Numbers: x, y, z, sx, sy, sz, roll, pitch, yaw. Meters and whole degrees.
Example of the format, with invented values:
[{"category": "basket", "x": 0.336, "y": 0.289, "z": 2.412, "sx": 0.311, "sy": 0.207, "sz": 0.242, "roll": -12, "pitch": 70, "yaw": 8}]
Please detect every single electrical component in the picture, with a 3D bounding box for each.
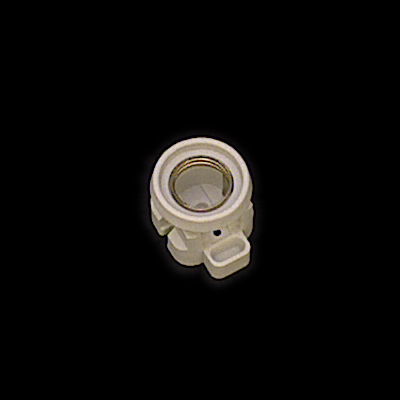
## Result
[{"category": "electrical component", "x": 0.000, "y": 0.000, "z": 0.629, "sx": 0.058, "sy": 0.078, "sz": 0.057, "roll": -27, "pitch": -24, "yaw": -13}]
